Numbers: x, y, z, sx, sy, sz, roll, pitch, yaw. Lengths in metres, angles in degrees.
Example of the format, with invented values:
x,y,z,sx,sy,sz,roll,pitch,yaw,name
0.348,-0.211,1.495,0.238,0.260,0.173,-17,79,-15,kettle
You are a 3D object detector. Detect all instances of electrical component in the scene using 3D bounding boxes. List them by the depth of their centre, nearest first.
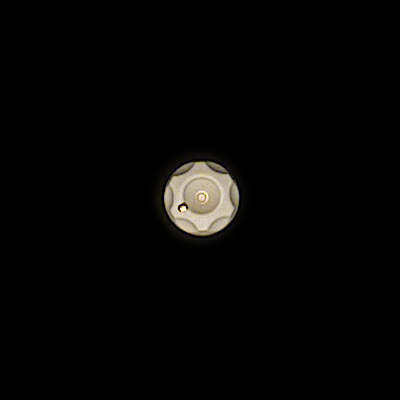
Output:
x,y,z,sx,sy,sz,roll,pitch,yaw,name
0.000,0.000,0.635,0.043,0.043,0.062,0,-6,1,electrical component
